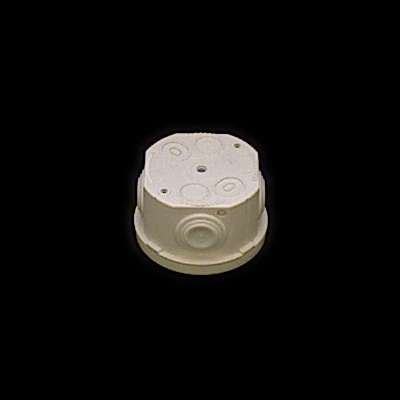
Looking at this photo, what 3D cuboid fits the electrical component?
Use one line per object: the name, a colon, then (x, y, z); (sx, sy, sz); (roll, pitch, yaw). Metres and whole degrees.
electrical component: (0.000, 0.000, 0.635); (0.080, 0.051, 0.079); (1, 42, -1)
